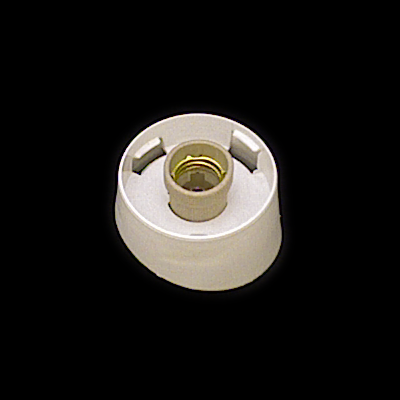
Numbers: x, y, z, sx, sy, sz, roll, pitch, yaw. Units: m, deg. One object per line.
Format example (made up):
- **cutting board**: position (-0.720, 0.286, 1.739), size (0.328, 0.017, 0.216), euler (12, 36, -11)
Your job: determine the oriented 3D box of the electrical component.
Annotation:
- **electrical component**: position (0.000, 0.000, 0.626), size (0.099, 0.098, 0.064), euler (0, -37, -1)
